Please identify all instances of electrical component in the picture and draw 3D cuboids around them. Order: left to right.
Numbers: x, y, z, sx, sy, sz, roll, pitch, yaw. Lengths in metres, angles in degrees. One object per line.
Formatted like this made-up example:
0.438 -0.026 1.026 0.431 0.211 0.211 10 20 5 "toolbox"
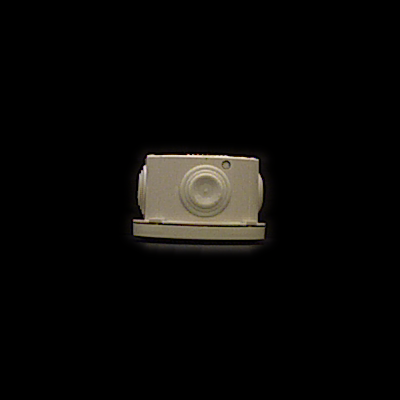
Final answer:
0.000 0.000 0.649 0.080 0.051 0.080 2 1 0 "electrical component"
